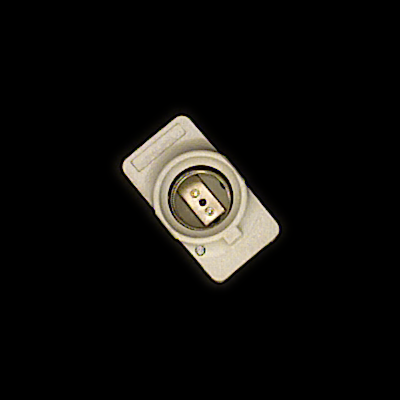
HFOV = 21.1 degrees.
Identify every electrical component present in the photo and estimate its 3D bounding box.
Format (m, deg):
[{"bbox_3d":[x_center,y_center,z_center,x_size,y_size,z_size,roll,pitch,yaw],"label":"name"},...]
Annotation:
[{"bbox_3d":[0.000,0.000,0.637,0.050,0.089,0.055,-40,-5,-3],"label":"electrical component"}]
